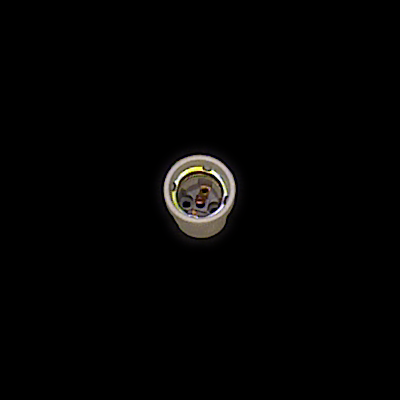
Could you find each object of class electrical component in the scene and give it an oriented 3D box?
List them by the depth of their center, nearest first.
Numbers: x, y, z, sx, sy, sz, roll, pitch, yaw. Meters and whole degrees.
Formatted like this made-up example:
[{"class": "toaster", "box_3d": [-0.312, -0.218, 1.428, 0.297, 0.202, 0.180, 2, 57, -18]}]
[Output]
[{"class": "electrical component", "box_3d": [0.000, 0.000, 0.627, 0.040, 0.040, 0.046, 0, -17, 0]}]
